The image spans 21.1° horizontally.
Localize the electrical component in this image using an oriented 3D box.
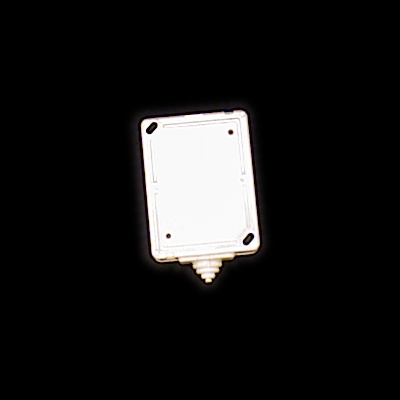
[{"bbox_3d":[0.000,0.000,0.629,0.062,0.096,0.061,-5,-6,0],"label":"electrical component"}]
